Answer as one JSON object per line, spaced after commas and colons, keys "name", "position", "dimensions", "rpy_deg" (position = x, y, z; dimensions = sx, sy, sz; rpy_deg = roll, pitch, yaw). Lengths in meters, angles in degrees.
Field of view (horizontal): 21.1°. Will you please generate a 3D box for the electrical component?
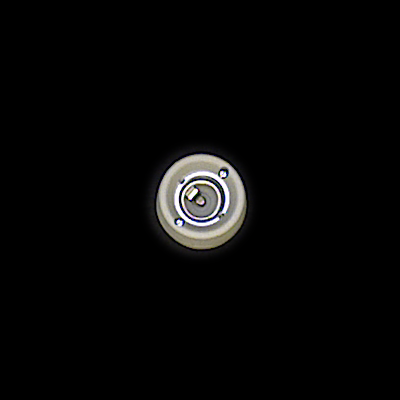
{"name": "electrical component", "position": [0.000, 0.000, 0.634], "dimensions": [0.055, 0.055, 0.047], "rpy_deg": [0, -7, 0]}
